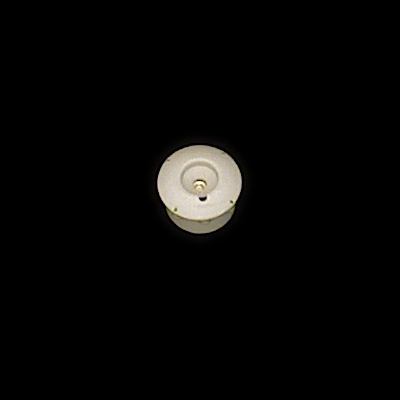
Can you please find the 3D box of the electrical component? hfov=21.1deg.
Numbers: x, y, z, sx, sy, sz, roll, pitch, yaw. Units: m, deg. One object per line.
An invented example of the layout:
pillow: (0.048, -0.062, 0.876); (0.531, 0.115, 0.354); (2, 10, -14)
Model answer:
electrical component: (0.000, 0.000, 0.633); (0.048, 0.048, 0.062); (0, -26, 0)
